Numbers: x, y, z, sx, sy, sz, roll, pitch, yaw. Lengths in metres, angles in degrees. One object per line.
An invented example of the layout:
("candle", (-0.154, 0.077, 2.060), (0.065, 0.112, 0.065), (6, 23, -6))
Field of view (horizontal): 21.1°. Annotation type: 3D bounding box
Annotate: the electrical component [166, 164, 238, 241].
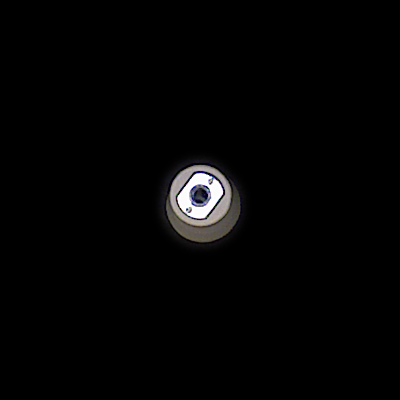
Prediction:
("electrical component", (0.000, 0.000, 0.626), (0.044, 0.044, 0.065), (0, -7, 2))
